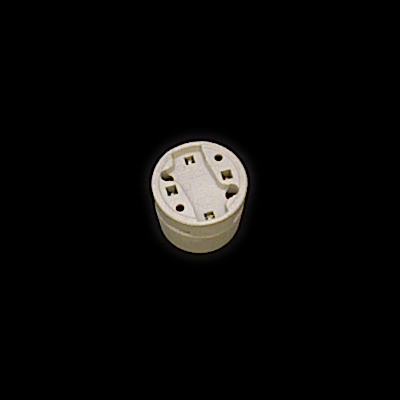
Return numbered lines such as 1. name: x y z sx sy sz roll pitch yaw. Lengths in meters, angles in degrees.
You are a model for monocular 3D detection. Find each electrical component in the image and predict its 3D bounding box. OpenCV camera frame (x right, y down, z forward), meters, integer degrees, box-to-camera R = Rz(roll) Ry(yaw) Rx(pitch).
1. electrical component: 0.000 0.000 0.634 0.055 0.056 0.047 0 -27 -1
